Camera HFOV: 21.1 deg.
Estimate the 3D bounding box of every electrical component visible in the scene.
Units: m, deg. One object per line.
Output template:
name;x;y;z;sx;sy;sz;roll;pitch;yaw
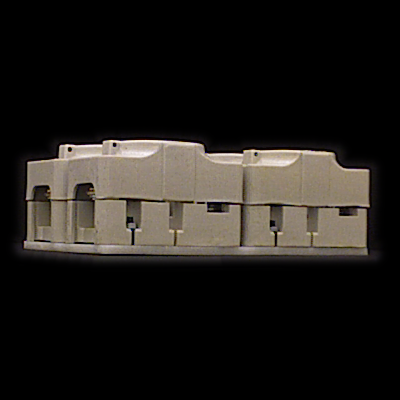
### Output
electrical component;0.000;0.000;0.649;0.187;0.060;0.105;1;0;-33
